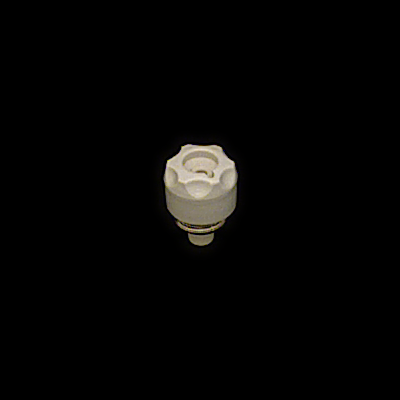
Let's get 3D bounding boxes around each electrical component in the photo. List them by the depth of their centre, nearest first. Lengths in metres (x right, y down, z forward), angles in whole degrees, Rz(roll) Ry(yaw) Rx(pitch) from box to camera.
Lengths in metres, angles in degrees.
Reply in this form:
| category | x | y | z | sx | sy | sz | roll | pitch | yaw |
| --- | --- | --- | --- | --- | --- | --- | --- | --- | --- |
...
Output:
| category | x | y | z | sx | sy | sz | roll | pitch | yaw |
| --- | --- | --- | --- | --- | --- | --- | --- | --- | --- |
| electrical component | 0.000 | 0.000 | 0.638 | 0.043 | 0.062 | 0.043 | 0 | 42 | 1 |
